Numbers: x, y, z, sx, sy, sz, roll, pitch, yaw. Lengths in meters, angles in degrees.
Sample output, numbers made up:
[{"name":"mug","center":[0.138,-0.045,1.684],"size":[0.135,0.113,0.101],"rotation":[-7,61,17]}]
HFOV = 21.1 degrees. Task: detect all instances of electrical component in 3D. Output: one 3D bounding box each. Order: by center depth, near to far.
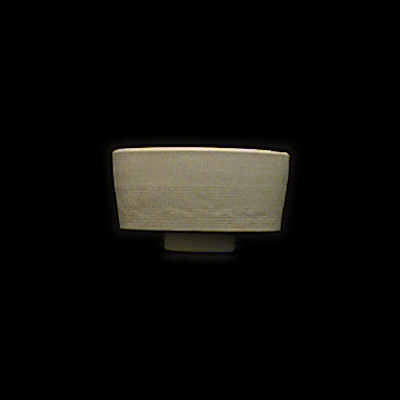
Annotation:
[{"name":"electrical component","center":[0.000,0.000,0.657],"size":[0.108,0.060,0.108],"rotation":[1,1,0]}]
